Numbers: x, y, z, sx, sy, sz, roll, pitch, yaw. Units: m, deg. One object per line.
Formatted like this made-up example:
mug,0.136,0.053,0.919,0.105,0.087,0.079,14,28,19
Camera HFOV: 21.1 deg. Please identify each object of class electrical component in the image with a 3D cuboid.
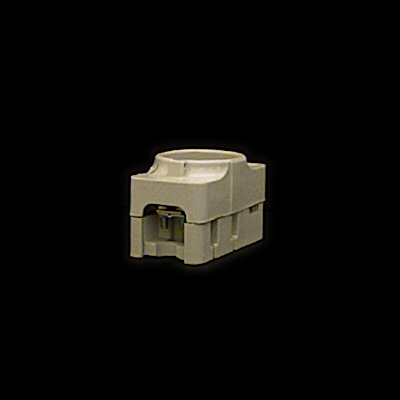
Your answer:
electrical component,0.000,0.000,0.652,0.050,0.056,0.090,7,12,26
